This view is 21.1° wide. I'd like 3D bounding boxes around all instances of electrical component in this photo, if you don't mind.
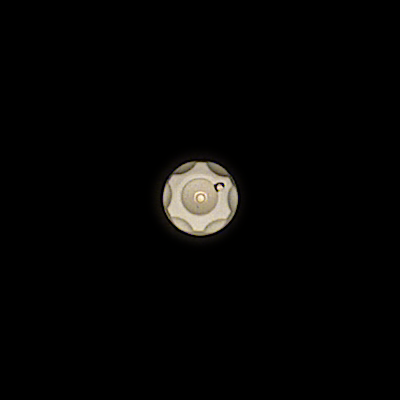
[{"bbox_3d":[0.000,0.000,0.635,0.043,0.043,0.062,0,-5,2],"label":"electrical component"}]
